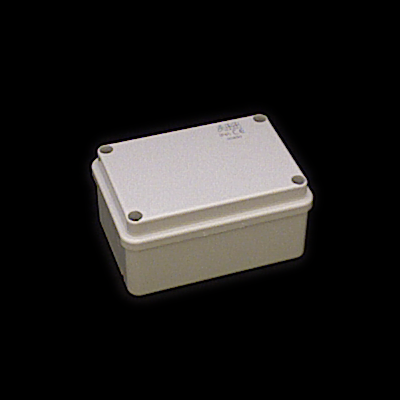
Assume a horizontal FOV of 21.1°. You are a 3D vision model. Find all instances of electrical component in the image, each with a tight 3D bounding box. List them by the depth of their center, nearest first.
[{"bbox_3d":[0.000,0.000,0.633,0.113,0.057,0.077,-13,44,-14],"label":"electrical component"}]
